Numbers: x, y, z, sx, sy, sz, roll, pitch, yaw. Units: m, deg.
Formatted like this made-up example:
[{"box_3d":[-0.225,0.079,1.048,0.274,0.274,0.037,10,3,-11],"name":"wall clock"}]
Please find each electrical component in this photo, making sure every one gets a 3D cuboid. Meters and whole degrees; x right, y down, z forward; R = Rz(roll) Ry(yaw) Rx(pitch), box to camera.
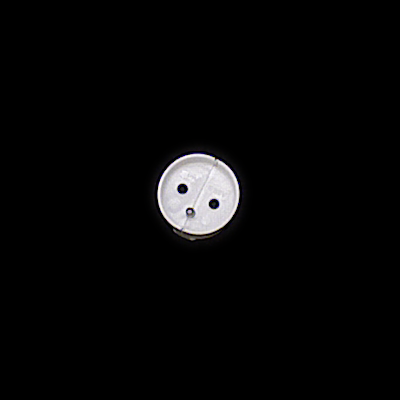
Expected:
[{"box_3d":[0.000,0.000,0.615,0.043,0.043,0.080,0,-6,1],"name":"electrical component"}]
